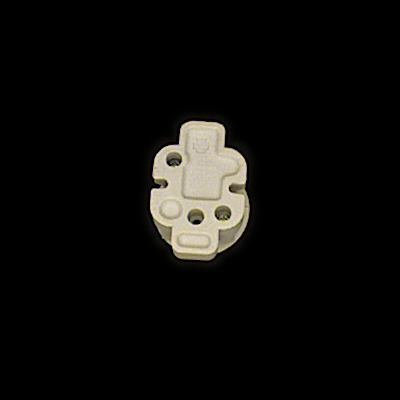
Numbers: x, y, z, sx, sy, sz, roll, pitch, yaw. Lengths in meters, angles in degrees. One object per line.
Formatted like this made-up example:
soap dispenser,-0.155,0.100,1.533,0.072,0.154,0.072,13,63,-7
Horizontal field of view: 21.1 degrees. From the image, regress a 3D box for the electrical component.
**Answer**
electrical component,0.000,0.000,0.636,0.058,0.079,0.056,2,-18,2
